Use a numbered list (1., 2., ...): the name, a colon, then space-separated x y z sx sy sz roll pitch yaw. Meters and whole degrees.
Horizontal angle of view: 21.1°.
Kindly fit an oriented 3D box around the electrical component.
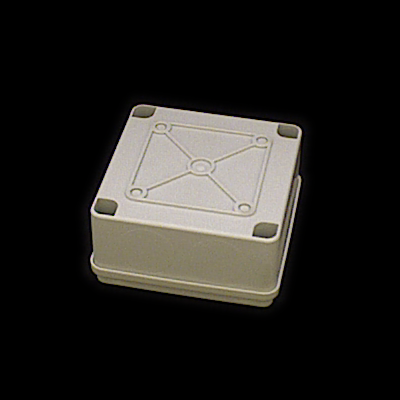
1. electrical component: 0.000 0.000 0.631 0.108 0.057 0.108 8 43 8
